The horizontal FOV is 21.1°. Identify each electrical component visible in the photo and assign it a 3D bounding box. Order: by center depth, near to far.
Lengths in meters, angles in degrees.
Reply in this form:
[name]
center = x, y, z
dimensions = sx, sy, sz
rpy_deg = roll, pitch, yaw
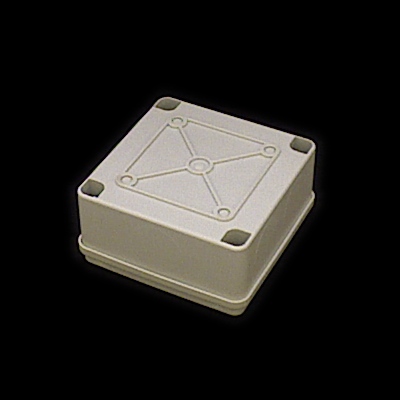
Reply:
[electrical component]
center = 0.000, 0.000, 0.630
dimensions = 0.108, 0.056, 0.108
rpy_deg = 19, 45, 19
